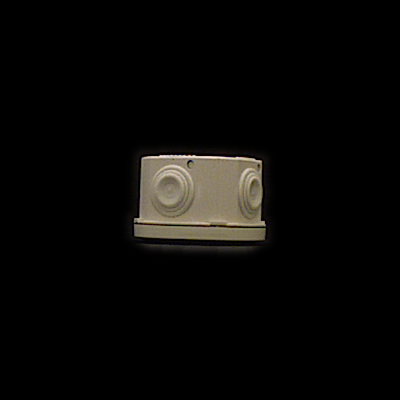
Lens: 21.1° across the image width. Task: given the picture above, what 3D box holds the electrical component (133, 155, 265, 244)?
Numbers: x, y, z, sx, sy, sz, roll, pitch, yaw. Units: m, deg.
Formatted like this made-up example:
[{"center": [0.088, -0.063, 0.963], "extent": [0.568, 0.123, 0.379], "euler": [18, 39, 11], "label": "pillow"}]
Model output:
[{"center": [0.000, 0.000, 0.651], "extent": [0.080, 0.051, 0.080], "euler": [2, 0, 0], "label": "electrical component"}]
